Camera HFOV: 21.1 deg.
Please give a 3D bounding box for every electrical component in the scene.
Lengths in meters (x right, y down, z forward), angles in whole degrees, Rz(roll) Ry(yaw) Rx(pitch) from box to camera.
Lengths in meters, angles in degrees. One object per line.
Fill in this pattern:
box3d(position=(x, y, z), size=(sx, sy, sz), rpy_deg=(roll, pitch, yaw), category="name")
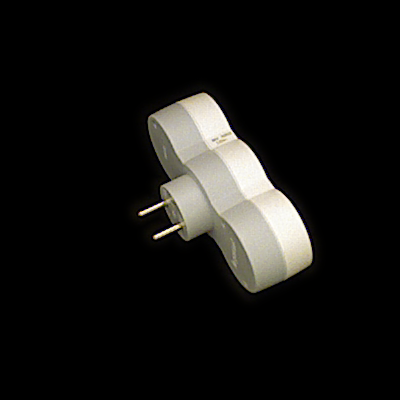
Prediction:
box3d(position=(0.000, 0.000, 0.638), size=(0.074, 0.137, 0.052), rpy_deg=(-24, -33, -16), category="electrical component")
